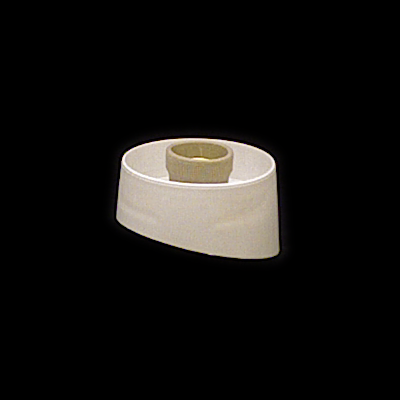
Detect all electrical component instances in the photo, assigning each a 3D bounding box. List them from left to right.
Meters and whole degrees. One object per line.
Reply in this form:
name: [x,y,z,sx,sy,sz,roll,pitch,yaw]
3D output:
electrical component: [0.000,0.000,0.637,0.099,0.065,0.097,1,20,0]
